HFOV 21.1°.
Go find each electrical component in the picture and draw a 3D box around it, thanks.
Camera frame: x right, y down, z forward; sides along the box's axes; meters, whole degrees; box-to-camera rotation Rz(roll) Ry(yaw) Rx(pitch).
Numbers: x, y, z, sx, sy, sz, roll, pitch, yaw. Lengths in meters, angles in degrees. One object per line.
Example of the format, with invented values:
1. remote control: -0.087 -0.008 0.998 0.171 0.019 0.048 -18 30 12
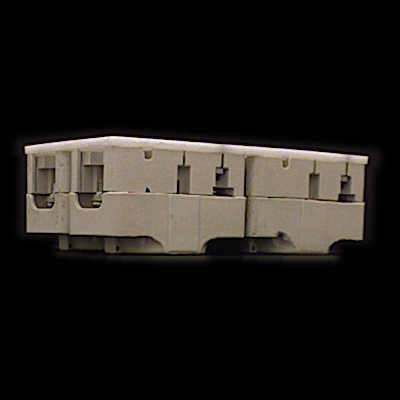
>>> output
1. electrical component: 0.000 0.000 0.649 0.187 0.060 0.105 2 -1 -35
